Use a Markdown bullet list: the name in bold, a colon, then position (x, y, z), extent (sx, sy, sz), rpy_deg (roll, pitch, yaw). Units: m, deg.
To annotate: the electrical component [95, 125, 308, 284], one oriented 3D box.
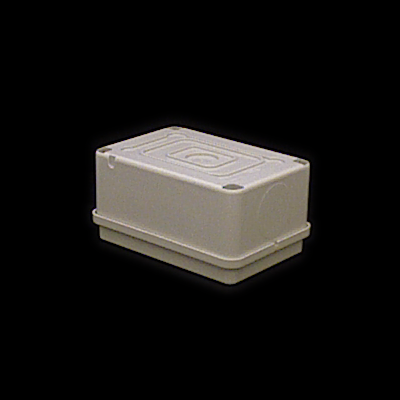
- **electrical component**: position (0.000, 0.000, 0.639), extent (0.112, 0.058, 0.078), rpy_deg (18, 27, 37)
